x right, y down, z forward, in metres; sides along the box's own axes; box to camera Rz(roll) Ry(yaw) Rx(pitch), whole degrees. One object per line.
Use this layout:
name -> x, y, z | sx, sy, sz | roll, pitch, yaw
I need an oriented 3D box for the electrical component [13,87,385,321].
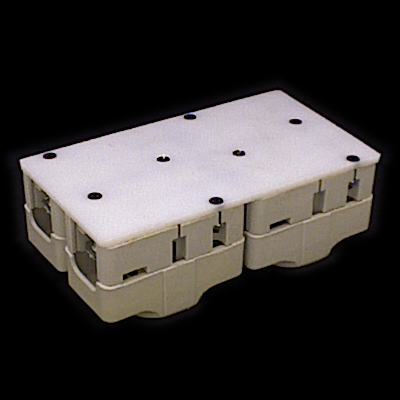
electrical component -> 0.000, 0.000, 0.633 | 0.186, 0.061, 0.104 | -18, 36, -28
